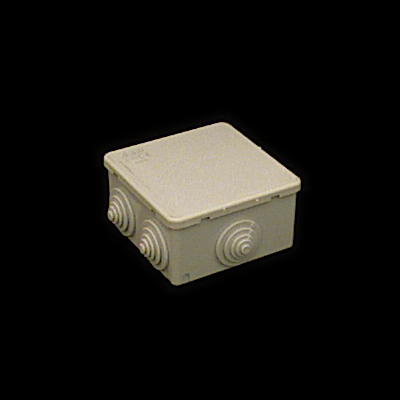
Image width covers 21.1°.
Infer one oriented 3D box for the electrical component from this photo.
[{"bbox_3d":[0.000,0.000,0.644,0.100,0.049,0.098,-17,37,-26],"label":"electrical component"}]
